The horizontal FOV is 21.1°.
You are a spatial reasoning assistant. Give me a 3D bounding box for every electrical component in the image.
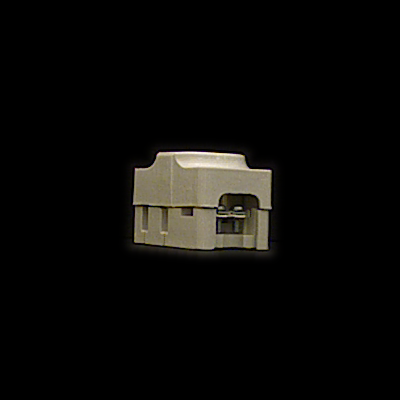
[{"bbox_3d":[0.000,0.000,0.657,0.050,0.056,0.089,1,1,-31],"label":"electrical component"}]
